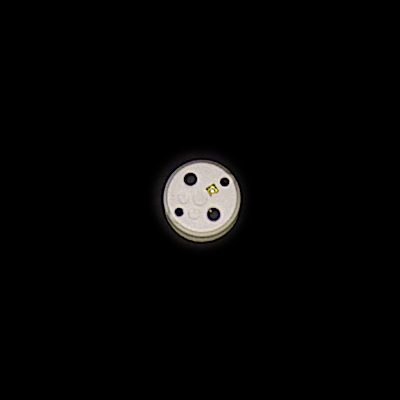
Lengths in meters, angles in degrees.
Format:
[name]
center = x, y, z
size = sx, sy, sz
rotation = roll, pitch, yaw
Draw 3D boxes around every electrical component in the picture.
[electrical component]
center = 0.000, 0.000, 0.629
size = 0.045, 0.045, 0.055
rotation = 0, -6, 1
